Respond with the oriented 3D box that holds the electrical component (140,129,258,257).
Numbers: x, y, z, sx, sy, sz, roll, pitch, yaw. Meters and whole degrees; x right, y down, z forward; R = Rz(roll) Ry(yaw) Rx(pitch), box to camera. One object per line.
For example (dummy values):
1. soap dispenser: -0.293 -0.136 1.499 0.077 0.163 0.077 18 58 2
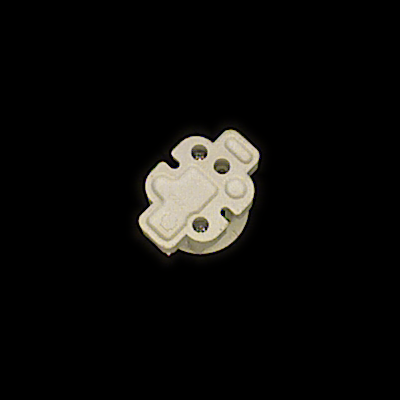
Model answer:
1. electrical component: 0.000 0.000 0.635 0.058 0.079 0.056 42 -11 10
